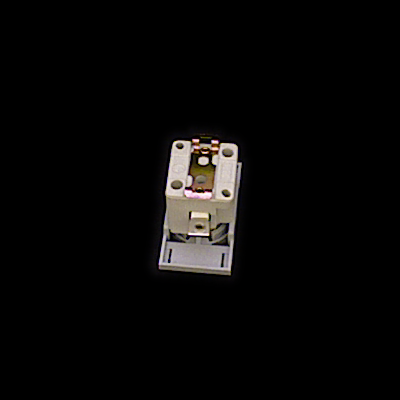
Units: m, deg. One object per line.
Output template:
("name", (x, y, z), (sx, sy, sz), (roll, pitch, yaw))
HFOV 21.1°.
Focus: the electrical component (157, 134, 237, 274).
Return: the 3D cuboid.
("electrical component", (0.000, 0.000, 0.627), (0.042, 0.080, 0.064), (4, -37, 3))
